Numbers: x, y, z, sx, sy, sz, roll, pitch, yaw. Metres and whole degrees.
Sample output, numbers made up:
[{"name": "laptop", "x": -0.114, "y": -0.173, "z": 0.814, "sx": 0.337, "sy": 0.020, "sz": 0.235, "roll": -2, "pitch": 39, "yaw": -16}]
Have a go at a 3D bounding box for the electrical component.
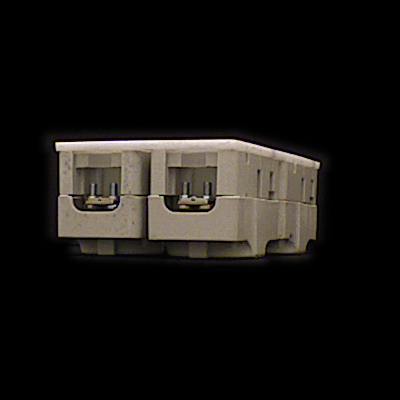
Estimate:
[{"name": "electrical component", "x": 0.000, "y": 0.000, "z": 0.649, "sx": 0.105, "sy": 0.060, "sz": 0.186, "roll": 1, "pitch": -1, "yaw": 20}]
